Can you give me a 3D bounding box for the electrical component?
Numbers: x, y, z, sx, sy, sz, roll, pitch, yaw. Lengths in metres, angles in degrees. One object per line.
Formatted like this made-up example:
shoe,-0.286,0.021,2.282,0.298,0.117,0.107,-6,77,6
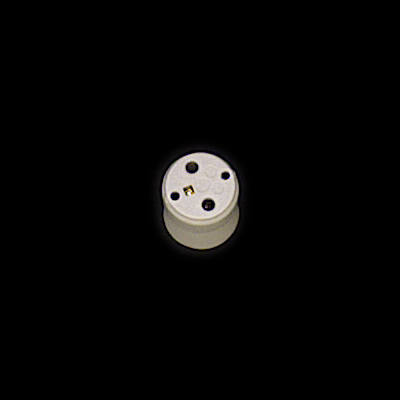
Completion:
electrical component,0.000,0.000,0.629,0.045,0.045,0.055,0,-17,0
